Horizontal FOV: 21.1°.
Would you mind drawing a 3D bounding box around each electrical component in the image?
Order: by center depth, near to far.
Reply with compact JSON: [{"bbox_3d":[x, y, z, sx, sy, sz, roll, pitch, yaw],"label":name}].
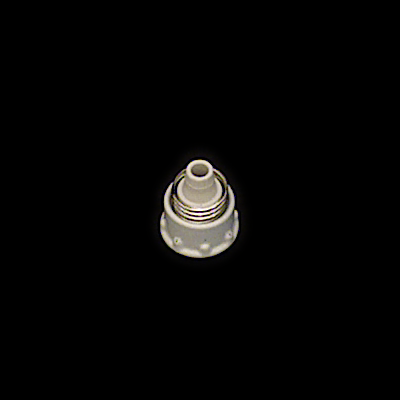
[{"bbox_3d":[0.000,0.000,0.634,0.048,0.048,0.062,0,-36,0],"label":"electrical component"}]
